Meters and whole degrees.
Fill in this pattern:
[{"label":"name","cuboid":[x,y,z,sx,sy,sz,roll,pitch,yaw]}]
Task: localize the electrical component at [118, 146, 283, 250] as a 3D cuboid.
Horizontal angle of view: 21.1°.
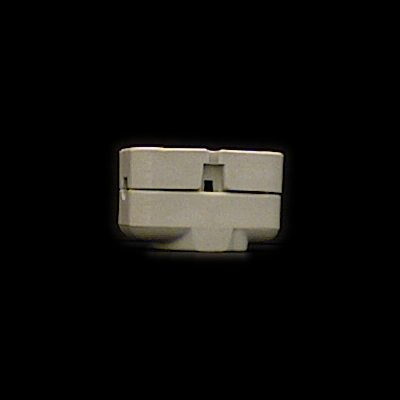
[{"label":"electrical component","cuboid":[0.000,0.000,0.655,0.096,0.059,0.053,2,1,-18]}]
